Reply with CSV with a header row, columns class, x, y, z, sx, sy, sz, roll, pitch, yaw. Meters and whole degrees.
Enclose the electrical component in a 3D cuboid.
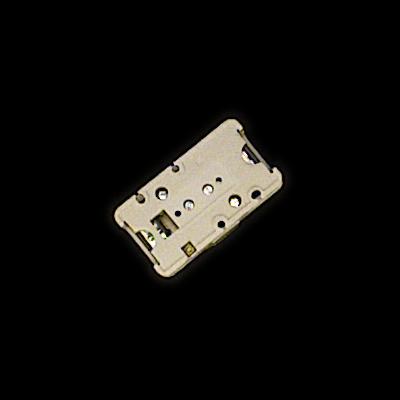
class,x,y,z,sx,sy,sz,roll,pitch,yaw
electrical component,0.000,0.000,0.637,0.090,0.050,0.055,-39,-4,-3
